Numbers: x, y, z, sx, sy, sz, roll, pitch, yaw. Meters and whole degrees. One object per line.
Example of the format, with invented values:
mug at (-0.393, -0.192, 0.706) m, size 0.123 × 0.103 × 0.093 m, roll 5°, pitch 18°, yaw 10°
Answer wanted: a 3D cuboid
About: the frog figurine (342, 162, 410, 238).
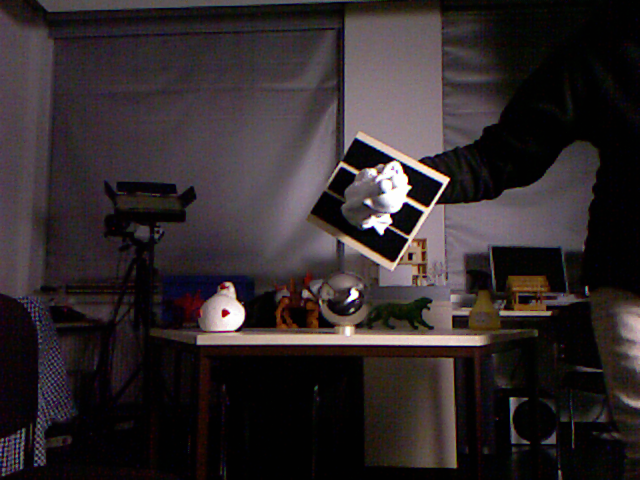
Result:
frog figurine at (0.096, -0.082, 0.919) m, size 0.137 × 0.124 × 0.158 m, roll -40°, pitch -18°, yaw 4°
